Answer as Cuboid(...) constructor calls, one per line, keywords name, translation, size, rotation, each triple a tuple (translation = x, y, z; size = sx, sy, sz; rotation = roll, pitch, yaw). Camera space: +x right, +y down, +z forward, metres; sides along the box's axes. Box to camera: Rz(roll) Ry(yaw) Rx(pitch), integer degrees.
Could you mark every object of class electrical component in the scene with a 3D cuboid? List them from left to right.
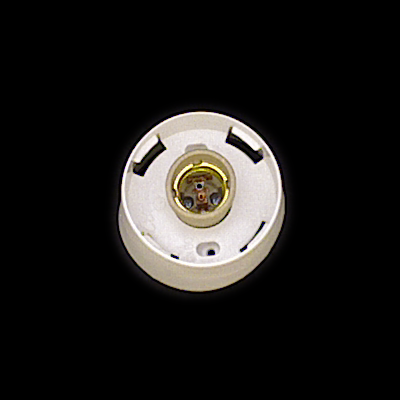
Cuboid(name="electrical component", translation=(0.000, 0.000, 0.625), size=(0.099, 0.099, 0.064), rotation=(0, -17, 0))
